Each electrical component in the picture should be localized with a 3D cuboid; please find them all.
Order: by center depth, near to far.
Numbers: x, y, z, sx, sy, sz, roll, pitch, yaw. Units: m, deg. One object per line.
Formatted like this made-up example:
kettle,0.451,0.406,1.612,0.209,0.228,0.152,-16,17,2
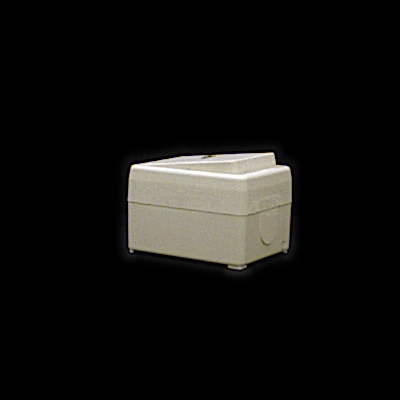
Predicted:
electrical component,0.000,0.000,0.646,0.096,0.061,0.061,7,12,31
